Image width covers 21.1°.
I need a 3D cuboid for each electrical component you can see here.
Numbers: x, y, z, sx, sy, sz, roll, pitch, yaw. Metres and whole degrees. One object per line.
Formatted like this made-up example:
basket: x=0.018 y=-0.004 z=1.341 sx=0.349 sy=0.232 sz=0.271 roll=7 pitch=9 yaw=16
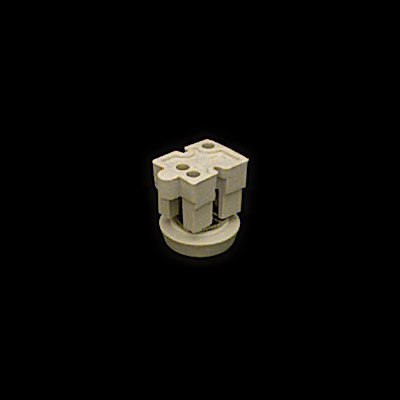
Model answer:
electrical component: x=0.000 y=0.000 z=0.642 sx=0.067 sy=0.056 sz=0.048 roll=-25 pitch=39 yaw=-36
